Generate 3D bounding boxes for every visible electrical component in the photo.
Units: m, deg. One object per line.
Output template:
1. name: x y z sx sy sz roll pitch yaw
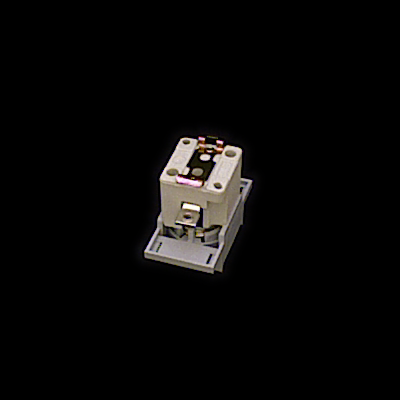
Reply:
1. electrical component: 0.000 0.000 0.630 0.042 0.064 0.080 12 43 12
